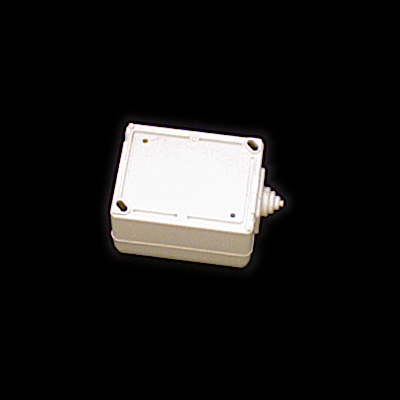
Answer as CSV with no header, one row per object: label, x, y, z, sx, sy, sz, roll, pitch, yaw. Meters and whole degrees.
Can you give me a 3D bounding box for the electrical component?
electrical component,0.000,0.000,0.626,0.096,0.062,0.060,7,-27,2
